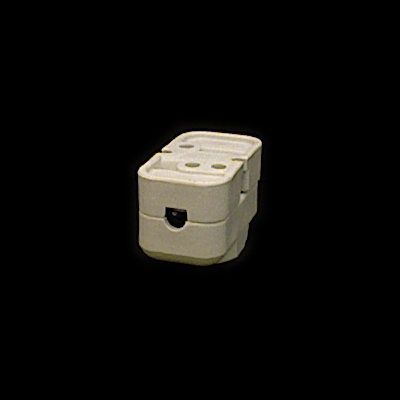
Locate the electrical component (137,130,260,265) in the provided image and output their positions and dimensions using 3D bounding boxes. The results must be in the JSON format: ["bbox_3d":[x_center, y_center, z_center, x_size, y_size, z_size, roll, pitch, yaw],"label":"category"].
[{"bbox_3d":[0.000,0.000,0.647,0.053,0.060,0.094,8,22,16],"label":"electrical component"}]
